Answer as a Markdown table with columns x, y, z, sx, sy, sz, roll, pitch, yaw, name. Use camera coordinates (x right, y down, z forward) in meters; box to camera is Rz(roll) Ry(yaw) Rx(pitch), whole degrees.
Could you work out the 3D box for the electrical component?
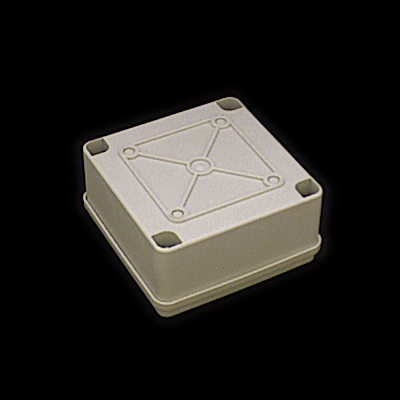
| x | y | z | sx | sy | sz | roll | pitch | yaw | name |
| --- | --- | --- | --- | --- | --- | --- | --- | --- | --- |
| 0.000 | 0.000 | 0.629 | 0.109 | 0.056 | 0.108 | -20 | 46 | -21 | electrical component |
